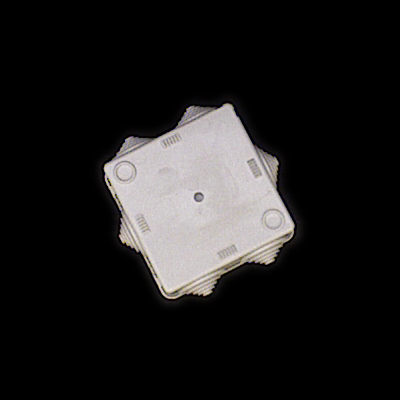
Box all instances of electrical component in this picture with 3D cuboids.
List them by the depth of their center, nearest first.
[{"bbox_3d":[0.000,0.000,0.633,0.100,0.100,0.048,-27,-6,-3],"label":"electrical component"}]
